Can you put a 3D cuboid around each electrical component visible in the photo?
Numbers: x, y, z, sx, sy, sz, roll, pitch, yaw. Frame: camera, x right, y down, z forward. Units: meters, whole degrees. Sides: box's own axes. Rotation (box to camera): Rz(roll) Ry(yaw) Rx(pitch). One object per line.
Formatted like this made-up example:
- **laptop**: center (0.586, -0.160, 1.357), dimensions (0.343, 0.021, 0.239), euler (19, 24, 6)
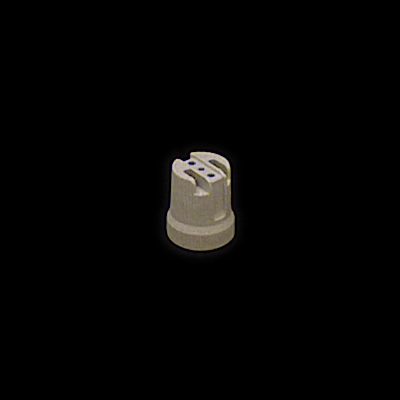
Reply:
- **electrical component**: center (0.000, 0.000, 0.637), dimensions (0.040, 0.046, 0.040), euler (0, 32, 0)
